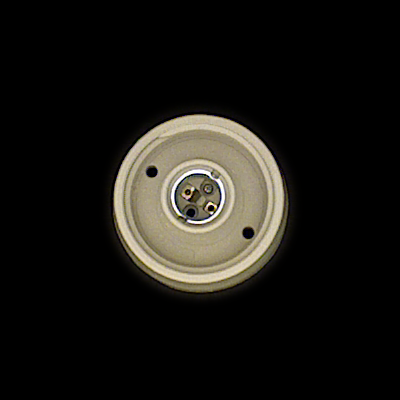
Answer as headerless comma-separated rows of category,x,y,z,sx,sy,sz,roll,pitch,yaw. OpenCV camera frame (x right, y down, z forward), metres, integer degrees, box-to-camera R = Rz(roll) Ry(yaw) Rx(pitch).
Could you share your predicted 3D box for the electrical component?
electrical component,0.000,0.000,0.635,0.108,0.108,0.060,0,-6,0
